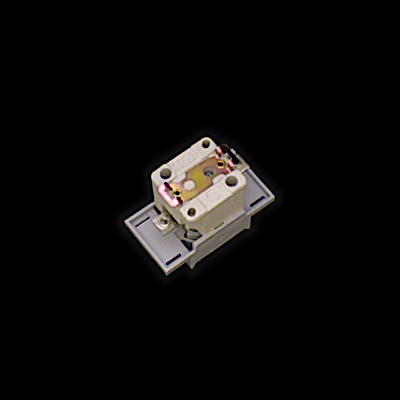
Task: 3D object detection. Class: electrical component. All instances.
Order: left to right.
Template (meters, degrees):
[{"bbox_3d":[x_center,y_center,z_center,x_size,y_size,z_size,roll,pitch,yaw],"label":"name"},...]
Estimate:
[{"bbox_3d":[0.000,0.000,0.625,0.081,0.042,0.063,-35,-22,-17],"label":"electrical component"}]
